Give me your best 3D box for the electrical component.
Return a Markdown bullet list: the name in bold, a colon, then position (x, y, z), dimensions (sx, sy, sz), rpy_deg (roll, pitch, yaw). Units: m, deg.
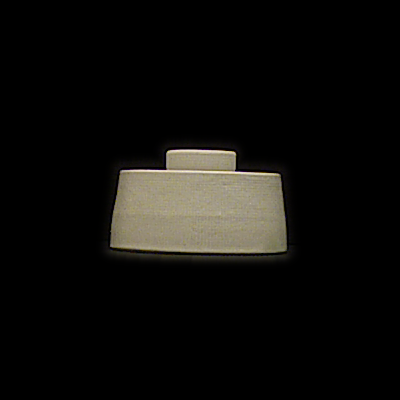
- **electrical component**: position (0.000, 0.000, 0.656), dimensions (0.108, 0.060, 0.108), rpy_deg (1, 1, 0)
